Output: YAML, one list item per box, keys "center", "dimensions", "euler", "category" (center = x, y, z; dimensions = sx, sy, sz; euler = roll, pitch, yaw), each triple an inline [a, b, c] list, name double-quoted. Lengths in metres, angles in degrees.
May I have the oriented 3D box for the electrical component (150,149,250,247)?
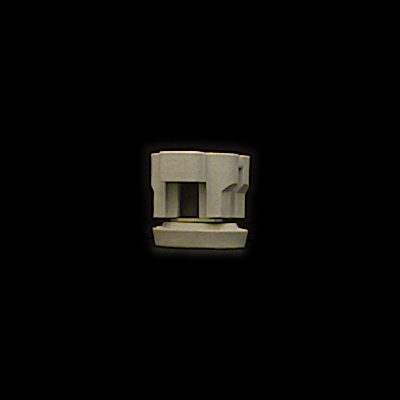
- center: [0.000, 0.000, 0.658]
  dimensions: [0.057, 0.057, 0.079]
  euler: [1, -1, 20]
  category: "electrical component"
